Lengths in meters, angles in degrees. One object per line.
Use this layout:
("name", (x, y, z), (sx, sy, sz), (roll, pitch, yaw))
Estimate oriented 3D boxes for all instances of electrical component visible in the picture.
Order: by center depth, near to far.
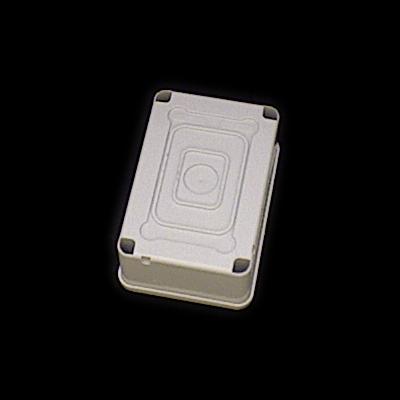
("electrical component", (0.000, 0.000, 0.628), (0.078, 0.113, 0.057), (10, -27, 5))
